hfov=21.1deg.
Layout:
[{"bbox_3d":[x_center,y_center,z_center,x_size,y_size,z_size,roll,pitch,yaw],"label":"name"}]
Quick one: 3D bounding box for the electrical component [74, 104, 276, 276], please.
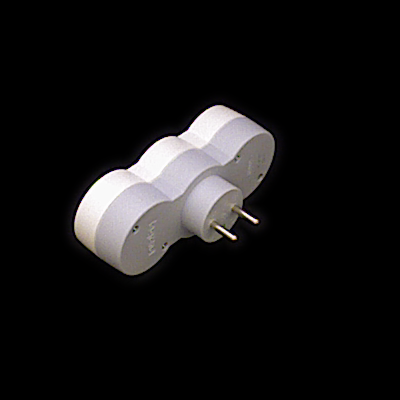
[{"bbox_3d":[0.000,0.000,0.636,0.073,0.052,0.138,33,50,28],"label":"electrical component"}]
